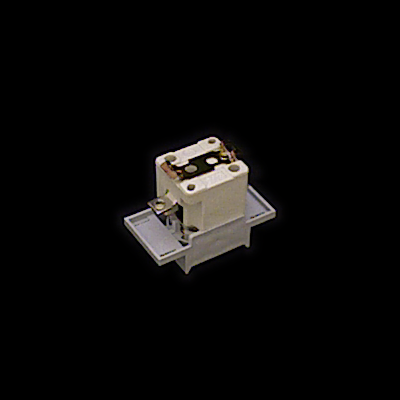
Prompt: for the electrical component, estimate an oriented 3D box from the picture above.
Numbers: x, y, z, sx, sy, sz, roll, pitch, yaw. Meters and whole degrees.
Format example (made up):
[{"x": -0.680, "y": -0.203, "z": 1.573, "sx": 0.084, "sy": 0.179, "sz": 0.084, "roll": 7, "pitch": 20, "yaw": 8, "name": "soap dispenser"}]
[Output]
[{"x": 0.000, "y": 0.000, "z": 0.630, "sx": 0.081, "sy": 0.064, "sz": 0.042, "roll": -23, "pitch": 47, "yaw": -24, "name": "electrical component"}]
